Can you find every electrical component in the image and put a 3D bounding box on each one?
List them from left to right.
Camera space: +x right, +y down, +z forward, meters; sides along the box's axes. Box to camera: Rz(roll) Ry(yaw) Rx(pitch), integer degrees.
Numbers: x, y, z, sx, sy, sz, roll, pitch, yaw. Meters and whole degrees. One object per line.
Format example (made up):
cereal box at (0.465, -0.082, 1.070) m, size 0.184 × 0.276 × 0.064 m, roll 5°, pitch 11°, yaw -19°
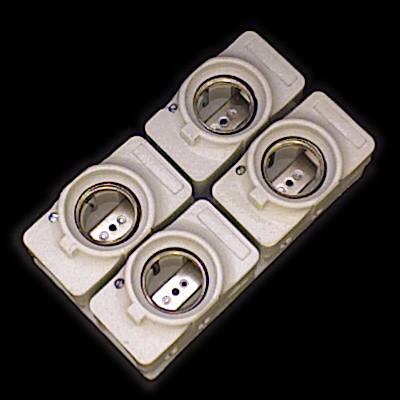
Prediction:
electrical component at (0.000, 0.000, 0.625) m, size 0.187 × 0.105 × 0.060 m, roll -43°, pitch -12°, yaw -12°
